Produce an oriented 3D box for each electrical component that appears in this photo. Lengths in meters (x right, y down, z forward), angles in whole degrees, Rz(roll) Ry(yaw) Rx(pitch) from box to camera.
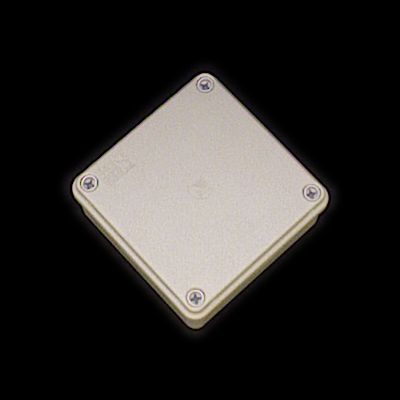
[{"bbox_3d":[0.000,0.000,0.629,0.109,0.109,0.056,-41,-12,-12],"label":"electrical component"}]
